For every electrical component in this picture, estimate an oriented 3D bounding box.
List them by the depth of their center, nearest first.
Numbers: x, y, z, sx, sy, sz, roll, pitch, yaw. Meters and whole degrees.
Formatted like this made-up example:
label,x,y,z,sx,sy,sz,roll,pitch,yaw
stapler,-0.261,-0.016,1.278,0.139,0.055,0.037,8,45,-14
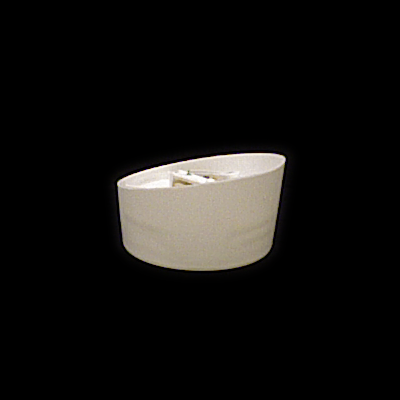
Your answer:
label,x,y,z,sx,sy,sz,roll,pitch,yaw
electrical component,0.000,0.000,0.638,0.099,0.065,0.097,2,21,-1
